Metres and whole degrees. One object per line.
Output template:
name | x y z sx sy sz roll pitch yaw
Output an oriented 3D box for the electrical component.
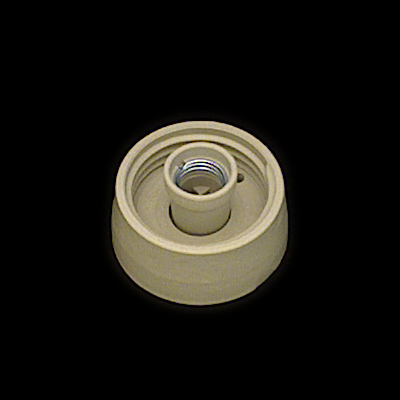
electrical component | 0.000 0.000 0.635 0.108 0.107 0.060 0 -37 -1
